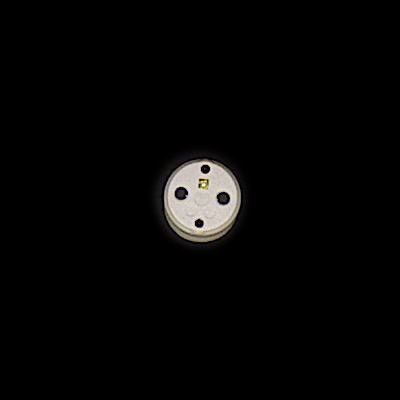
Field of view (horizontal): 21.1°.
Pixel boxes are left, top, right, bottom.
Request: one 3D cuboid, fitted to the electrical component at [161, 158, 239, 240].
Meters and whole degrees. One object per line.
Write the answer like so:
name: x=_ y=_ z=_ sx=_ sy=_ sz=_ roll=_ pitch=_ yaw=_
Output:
electrical component: x=0.000 y=0.000 z=0.630 sx=0.045 sy=0.045 sz=0.055 roll=0 pitch=-6 yaw=0
